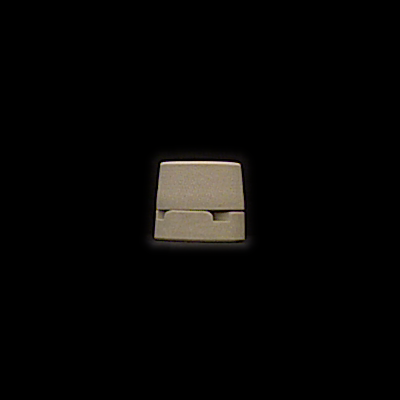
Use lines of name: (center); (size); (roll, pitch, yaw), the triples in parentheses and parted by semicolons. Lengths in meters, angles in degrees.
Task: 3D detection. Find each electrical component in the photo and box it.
electrical component: (0.000, 0.000, 0.651); (0.055, 0.047, 0.055); (1, 0, 0)
